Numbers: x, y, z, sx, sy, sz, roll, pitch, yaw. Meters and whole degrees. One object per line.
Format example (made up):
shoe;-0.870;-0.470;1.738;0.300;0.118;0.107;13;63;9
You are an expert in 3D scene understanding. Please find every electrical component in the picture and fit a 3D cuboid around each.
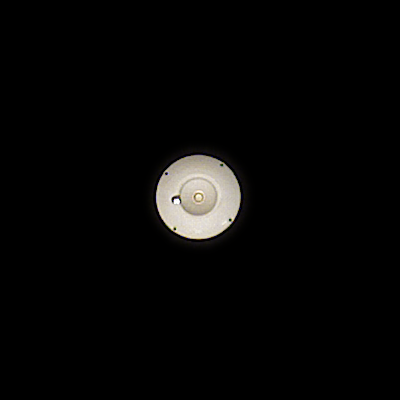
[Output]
electrical component;0.000;0.000;0.634;0.048;0.048;0.061;0;-6;1
